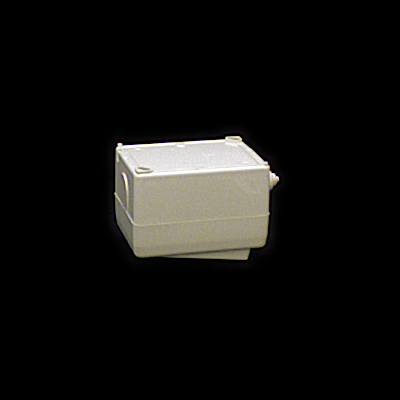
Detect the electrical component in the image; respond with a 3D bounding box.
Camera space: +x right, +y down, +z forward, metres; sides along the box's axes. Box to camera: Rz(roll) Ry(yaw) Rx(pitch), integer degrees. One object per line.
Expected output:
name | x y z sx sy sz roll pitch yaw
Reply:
electrical component | 0.000 0.000 0.643 0.096 0.061 0.061 -5 21 -14
